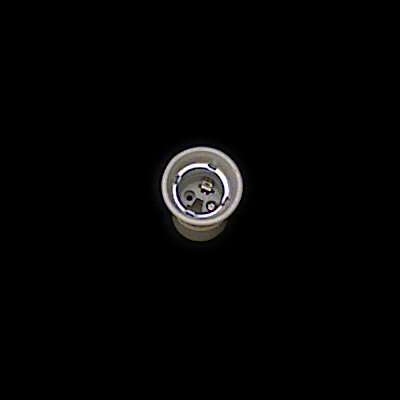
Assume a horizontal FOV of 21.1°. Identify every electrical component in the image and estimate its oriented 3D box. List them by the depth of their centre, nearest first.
[{"bbox_3d":[0.000,0.000,0.624,0.044,0.044,0.065,0,-16,-1],"label":"electrical component"}]
